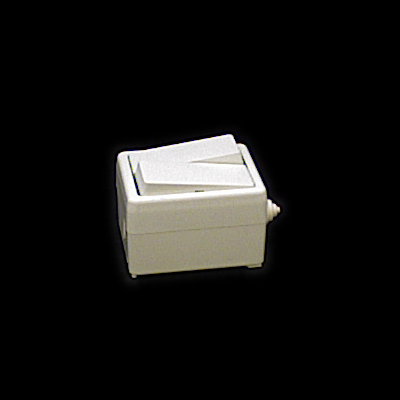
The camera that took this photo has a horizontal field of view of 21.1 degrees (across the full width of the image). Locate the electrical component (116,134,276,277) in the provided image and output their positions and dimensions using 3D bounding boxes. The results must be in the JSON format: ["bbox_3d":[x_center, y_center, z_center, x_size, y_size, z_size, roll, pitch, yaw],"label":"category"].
[{"bbox_3d":[0.000,0.000,0.635,0.096,0.061,0.061,-4,32,-9],"label":"electrical component"}]
